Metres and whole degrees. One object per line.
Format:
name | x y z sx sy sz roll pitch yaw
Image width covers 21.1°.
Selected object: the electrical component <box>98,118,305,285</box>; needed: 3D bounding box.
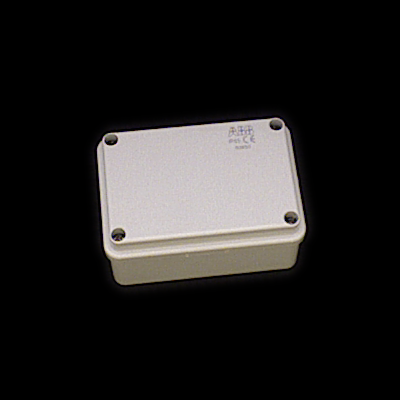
electrical component | 0.000 0.000 0.628 0.113 0.078 0.057 -6 -27 -3
